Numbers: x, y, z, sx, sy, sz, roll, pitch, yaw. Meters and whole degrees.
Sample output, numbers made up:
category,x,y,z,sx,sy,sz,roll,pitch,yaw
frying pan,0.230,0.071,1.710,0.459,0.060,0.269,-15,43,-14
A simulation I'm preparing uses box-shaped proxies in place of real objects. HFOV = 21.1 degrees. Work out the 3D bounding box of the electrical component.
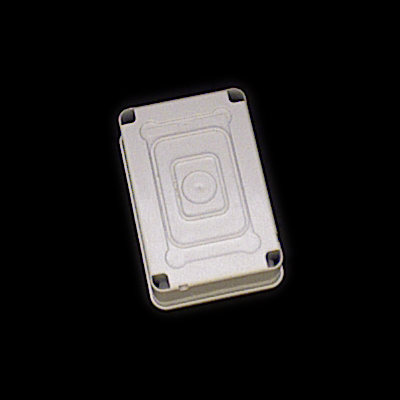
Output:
category,x,y,z,sx,sy,sz,roll,pitch,yaw
electrical component,0.000,0.000,0.628,0.078,0.113,0.057,-11,-17,-3
